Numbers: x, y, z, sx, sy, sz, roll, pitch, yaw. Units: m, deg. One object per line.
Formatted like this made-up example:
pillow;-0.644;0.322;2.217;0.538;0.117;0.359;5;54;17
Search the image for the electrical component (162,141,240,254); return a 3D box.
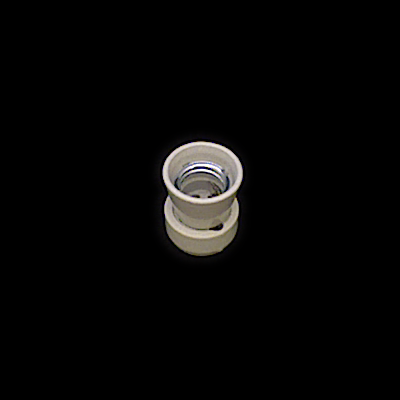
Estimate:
electrical component;0.000;0.000;0.631;0.045;0.044;0.055;0;-38;-1
